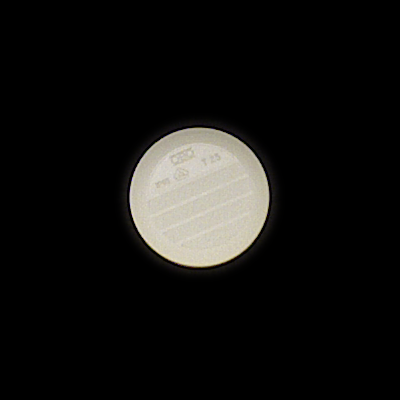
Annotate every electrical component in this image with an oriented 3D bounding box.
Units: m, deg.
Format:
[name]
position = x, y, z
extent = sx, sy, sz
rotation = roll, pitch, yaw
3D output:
[electrical component]
position = 0.000, 0.000, 0.631
extent = 0.080, 0.080, 0.050
rotation = 0, -7, 0
